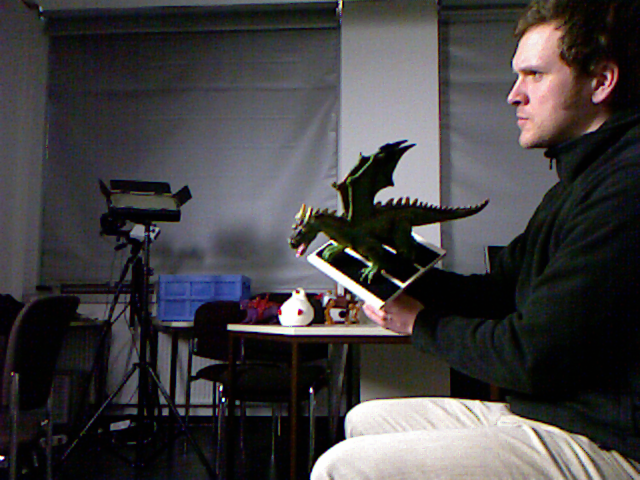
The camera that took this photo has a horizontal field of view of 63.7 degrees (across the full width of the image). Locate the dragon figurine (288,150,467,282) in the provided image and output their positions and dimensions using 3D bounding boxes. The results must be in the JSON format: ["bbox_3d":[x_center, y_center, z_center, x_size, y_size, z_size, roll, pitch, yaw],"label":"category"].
[{"bbox_3d":[0.120,-0.062,0.977,0.415,0.237,0.125,-26,48,-18],"label":"dragon figurine"}]
